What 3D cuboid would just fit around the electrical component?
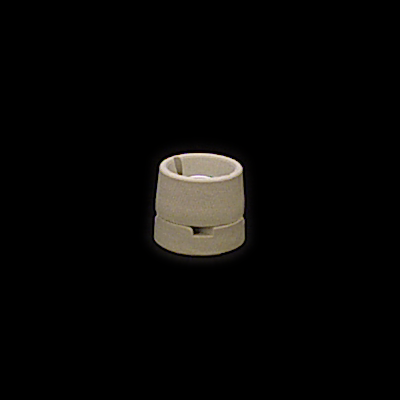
[{"bbox_3d":[0.000,0.000,0.640,0.055,0.047,0.055,1,22,0],"label":"electrical component"}]
